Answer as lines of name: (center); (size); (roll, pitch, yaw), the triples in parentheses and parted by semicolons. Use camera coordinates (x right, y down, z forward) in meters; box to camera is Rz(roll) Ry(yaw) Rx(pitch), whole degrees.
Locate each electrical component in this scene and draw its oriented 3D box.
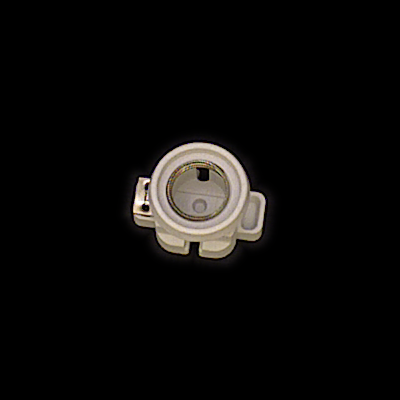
electrical component: (0.000, 0.000, 0.628); (0.078, 0.058, 0.056); (8, -17, 2)
